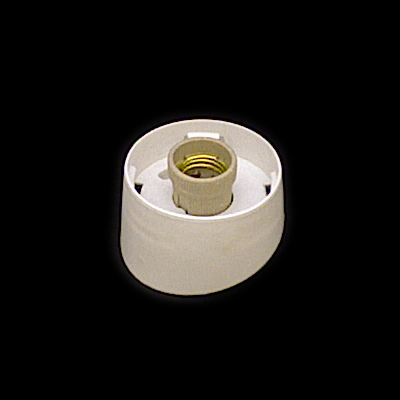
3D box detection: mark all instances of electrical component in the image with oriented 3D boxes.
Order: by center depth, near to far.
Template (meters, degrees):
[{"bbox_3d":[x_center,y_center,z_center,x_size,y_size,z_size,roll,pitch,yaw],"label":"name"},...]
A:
[{"bbox_3d":[0.000,0.000,0.630,0.099,0.065,0.098,0,42,0],"label":"electrical component"}]
